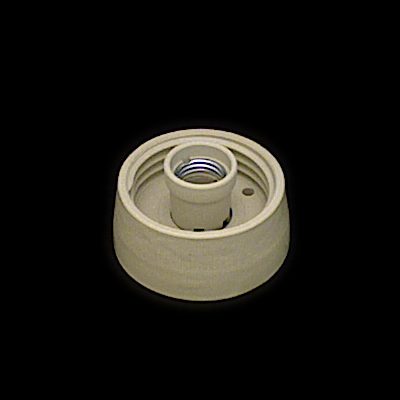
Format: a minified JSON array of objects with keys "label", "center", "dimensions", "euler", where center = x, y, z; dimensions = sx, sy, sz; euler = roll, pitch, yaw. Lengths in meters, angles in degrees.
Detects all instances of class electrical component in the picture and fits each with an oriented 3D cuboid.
[{"label":"electrical component","center":[0.000,0.000,0.638],"dimensions":[0.108,0.061,0.107],"euler":[1,43,0]}]
